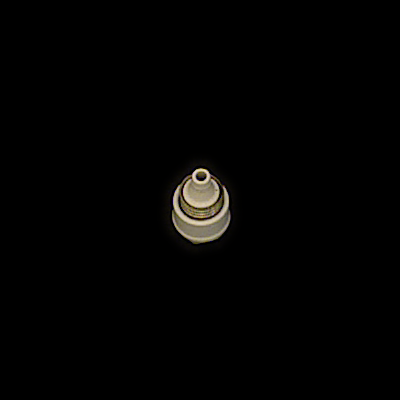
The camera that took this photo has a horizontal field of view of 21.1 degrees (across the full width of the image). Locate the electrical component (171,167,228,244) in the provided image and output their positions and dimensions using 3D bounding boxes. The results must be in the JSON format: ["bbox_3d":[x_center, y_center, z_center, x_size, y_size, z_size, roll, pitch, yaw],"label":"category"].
[{"bbox_3d":[0.000,0.000,0.637,0.035,0.035,0.061,0,-28,0],"label":"electrical component"}]
